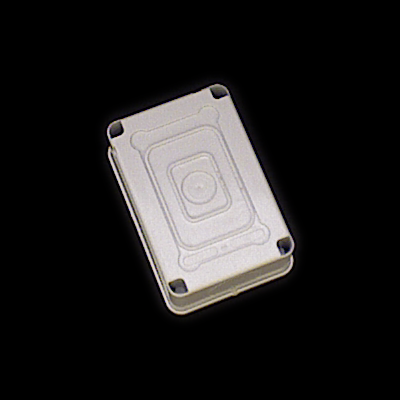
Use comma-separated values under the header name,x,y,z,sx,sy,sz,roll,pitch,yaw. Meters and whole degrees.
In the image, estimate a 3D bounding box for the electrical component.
name,x,y,z,sx,sy,sz,roll,pitch,yaw
electrical component,0.000,0.000,0.627,0.078,0.113,0.057,-21,-15,-6
